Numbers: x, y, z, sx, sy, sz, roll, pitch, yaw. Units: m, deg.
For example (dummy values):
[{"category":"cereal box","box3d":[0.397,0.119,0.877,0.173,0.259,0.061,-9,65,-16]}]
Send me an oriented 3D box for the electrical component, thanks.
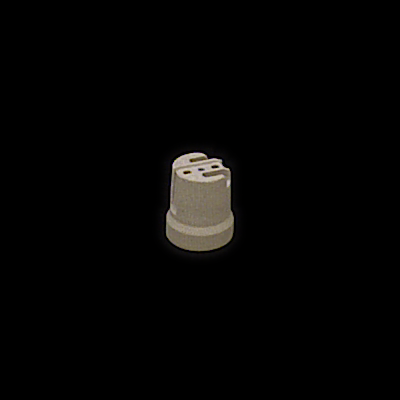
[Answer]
[{"category":"electrical component","box3d":[0.000,0.000,0.638,0.040,0.046,0.040,1,33,0]}]
